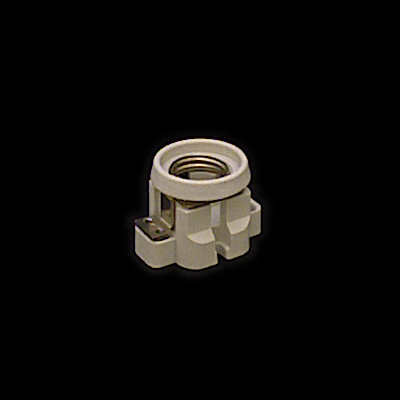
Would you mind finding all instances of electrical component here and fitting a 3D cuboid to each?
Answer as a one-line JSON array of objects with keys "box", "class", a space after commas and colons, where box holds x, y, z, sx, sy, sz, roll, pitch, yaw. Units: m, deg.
[{"box": [0.000, 0.000, 0.633, 0.078, 0.057, 0.057, -18, 36, -28], "class": "electrical component"}]
